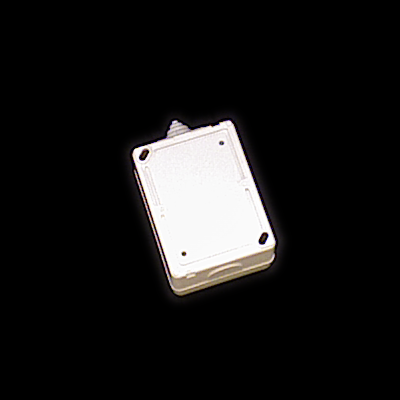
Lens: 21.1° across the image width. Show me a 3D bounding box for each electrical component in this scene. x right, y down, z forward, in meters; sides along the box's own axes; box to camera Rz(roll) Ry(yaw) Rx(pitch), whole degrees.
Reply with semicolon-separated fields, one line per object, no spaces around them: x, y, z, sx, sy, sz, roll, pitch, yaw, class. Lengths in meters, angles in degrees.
0.000;0.000;0.629;0.062;0.096;0.060;-17;-17;-5;electrical component
